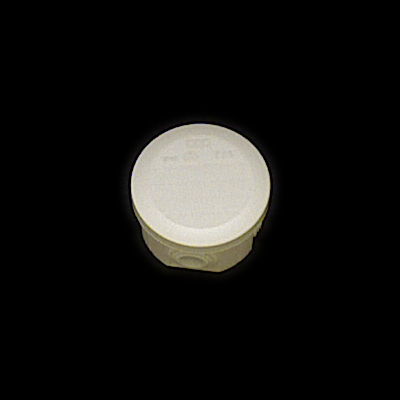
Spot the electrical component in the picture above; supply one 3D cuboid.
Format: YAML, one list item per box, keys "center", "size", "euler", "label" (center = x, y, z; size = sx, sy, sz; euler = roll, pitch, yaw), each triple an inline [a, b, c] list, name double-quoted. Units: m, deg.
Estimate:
- center: [0.000, 0.000, 0.630]
  size: [0.080, 0.080, 0.050]
  euler: [0, -27, 0]
  label: "electrical component"
